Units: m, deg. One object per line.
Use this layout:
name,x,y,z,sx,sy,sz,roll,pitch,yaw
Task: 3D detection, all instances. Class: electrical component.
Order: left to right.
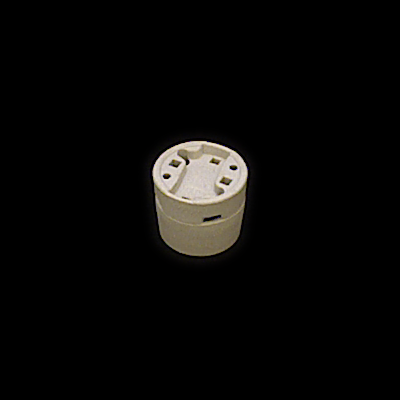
electrical component,0.000,0.000,0.635,0.055,0.047,0.055,0,42,0
